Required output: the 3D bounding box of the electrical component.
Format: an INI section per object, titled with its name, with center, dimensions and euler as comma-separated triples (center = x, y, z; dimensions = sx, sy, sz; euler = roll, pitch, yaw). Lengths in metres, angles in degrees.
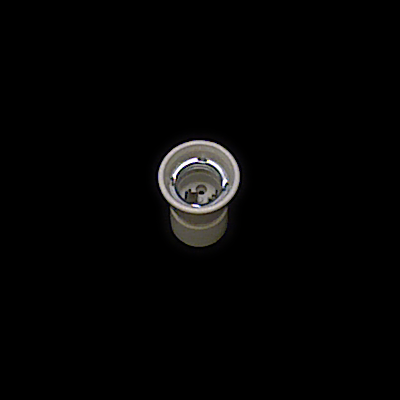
[electrical component]
center = 0.000, 0.000, 0.624
dimensions = 0.044, 0.044, 0.065
euler = 0, -26, 0
